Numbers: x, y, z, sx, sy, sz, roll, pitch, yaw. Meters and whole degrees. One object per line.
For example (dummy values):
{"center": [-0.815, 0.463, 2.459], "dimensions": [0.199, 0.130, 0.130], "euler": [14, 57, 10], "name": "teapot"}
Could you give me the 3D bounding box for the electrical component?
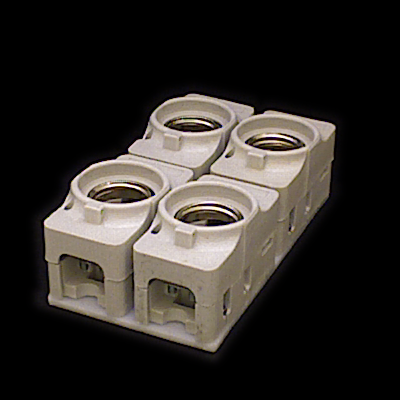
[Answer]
{"center": [0.000, 0.000, 0.633], "dimensions": [0.105, 0.061, 0.184], "euler": [15, 34, 21], "name": "electrical component"}
